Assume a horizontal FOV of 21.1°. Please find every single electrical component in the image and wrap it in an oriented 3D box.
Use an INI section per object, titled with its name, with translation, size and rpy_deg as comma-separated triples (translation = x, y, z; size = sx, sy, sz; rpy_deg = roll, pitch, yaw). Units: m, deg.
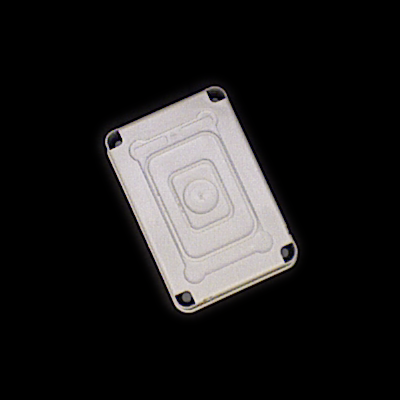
[electrical component]
translation = 0.000, 0.000, 0.629
size = 0.078, 0.113, 0.057
rpy_deg = -24, -6, -2
